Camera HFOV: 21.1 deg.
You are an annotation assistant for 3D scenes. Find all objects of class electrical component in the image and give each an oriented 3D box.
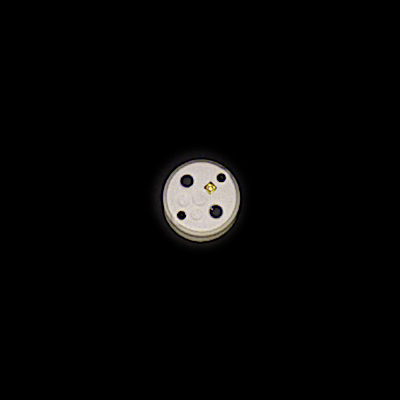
[{"bbox_3d":[0.000,0.000,0.629,0.045,0.045,0.055,0,-6,1],"label":"electrical component"}]
